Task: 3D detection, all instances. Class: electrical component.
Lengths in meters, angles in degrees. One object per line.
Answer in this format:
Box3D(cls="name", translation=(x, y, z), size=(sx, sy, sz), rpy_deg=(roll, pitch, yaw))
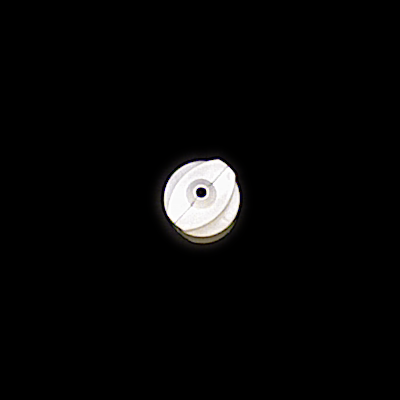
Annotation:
Box3D(cls="electrical component", translation=(0.000, 0.000, 0.616), size=(0.043, 0.043, 0.080), rpy_deg=(0, -6, 1))
